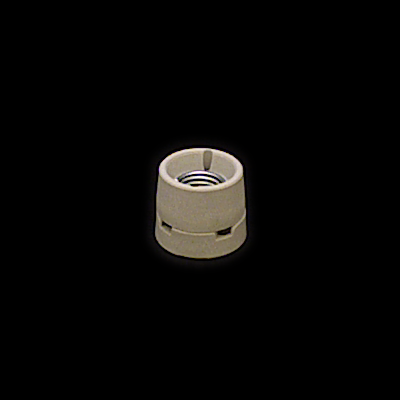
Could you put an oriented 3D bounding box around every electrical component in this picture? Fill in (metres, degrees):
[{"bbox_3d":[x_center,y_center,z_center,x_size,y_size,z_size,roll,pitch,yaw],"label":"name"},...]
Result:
[{"bbox_3d":[0.000,0.000,0.636,0.055,0.047,0.055,0,32,0],"label":"electrical component"}]
